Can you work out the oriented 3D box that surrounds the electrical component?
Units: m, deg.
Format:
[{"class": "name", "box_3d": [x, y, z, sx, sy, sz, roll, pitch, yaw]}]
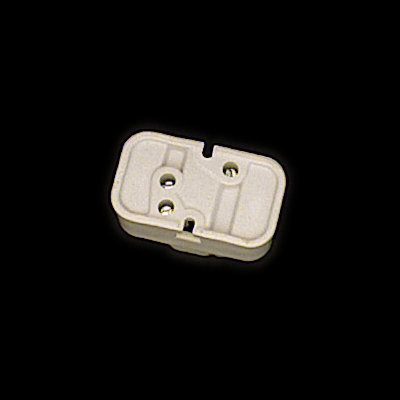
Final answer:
[{"class": "electrical component", "box_3d": [0.000, 0.000, 0.635, 0.095, 0.054, 0.059, 13, -15, 3]}]
